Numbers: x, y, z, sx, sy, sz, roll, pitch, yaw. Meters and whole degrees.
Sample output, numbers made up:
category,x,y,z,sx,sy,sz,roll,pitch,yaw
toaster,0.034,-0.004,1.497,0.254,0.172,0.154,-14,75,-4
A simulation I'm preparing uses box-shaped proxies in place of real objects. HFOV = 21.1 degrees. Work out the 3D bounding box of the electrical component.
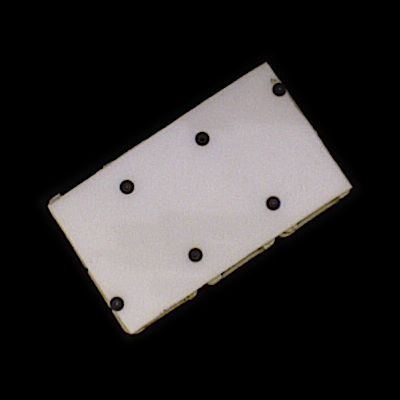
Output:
category,x,y,z,sx,sy,sz,roll,pitch,yaw
electrical component,0.000,0.000,0.630,0.150,0.089,0.061,-33,-5,-3
